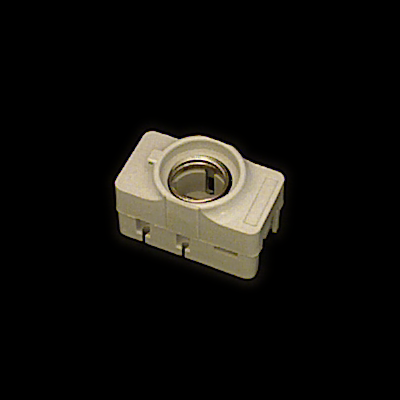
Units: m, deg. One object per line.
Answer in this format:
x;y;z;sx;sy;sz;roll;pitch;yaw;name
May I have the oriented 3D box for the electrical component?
0.000;0.000;0.638;0.089;0.050;0.056;19;-35;13;electrical component
